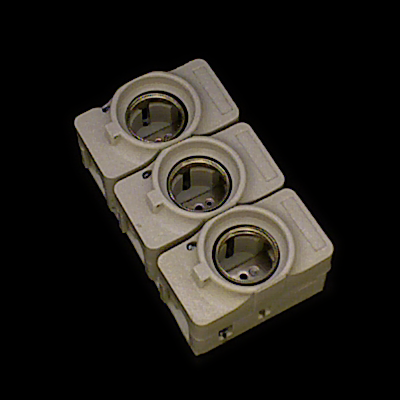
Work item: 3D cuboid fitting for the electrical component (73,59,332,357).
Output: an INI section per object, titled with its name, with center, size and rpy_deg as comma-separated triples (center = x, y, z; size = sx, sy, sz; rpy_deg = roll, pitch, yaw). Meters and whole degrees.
[electrical component]
center = 0.000, 0.000, 0.631
size = 0.089, 0.149, 0.062
rpy_deg = -27, -24, -13
